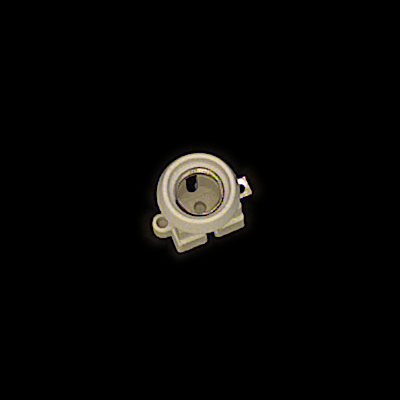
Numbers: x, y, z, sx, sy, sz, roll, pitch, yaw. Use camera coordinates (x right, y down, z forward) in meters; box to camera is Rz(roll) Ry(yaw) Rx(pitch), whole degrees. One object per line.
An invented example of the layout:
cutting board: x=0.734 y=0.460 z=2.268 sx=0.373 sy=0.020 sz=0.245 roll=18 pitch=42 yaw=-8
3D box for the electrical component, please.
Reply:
electrical component: x=0.000 y=0.000 z=0.638 sx=0.067 sy=0.048 sz=0.055 roll=-23 pitch=-13 yaw=-6
